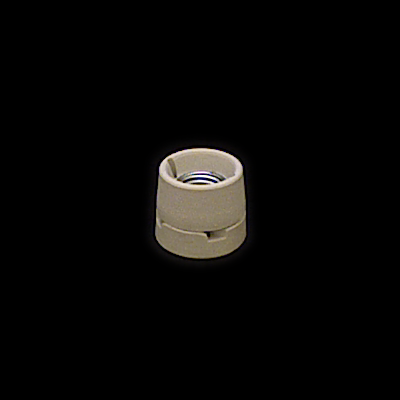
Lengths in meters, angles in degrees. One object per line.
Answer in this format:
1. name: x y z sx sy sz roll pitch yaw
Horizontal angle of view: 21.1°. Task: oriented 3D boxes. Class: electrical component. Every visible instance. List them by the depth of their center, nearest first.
1. electrical component: 0.000 0.000 0.638 0.055 0.047 0.055 0 31 0
